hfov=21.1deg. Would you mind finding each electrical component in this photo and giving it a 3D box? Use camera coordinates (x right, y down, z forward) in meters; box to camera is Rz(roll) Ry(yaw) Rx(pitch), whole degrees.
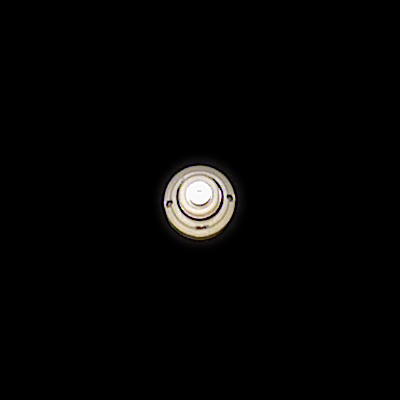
[{"bbox_3d":[0.000,0.000,0.618,0.040,0.040,0.078,0,-7,-1],"label":"electrical component"}]
